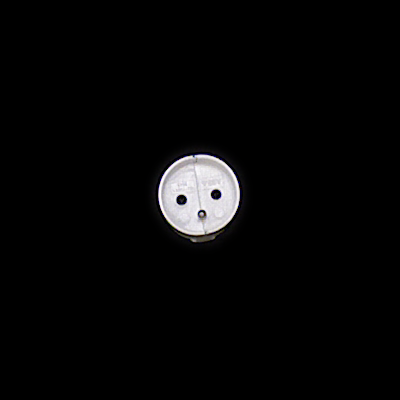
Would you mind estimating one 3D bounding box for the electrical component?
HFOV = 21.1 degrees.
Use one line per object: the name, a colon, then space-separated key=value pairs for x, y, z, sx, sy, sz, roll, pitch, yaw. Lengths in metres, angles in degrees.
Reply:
electrical component: x=0.000 y=0.000 z=0.615 sx=0.043 sy=0.043 sz=0.080 roll=0 pitch=-5 yaw=1
